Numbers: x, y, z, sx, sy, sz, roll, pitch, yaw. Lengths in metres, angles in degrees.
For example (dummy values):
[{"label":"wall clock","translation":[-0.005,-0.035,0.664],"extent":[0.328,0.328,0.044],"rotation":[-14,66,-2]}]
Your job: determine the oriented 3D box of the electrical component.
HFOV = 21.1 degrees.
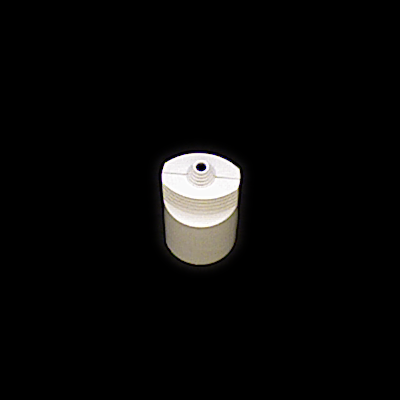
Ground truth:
[{"label":"electrical component","translation":[0.000,0.000,0.617],"extent":[0.043,0.043,0.081],"rotation":[0,-27,0]}]
